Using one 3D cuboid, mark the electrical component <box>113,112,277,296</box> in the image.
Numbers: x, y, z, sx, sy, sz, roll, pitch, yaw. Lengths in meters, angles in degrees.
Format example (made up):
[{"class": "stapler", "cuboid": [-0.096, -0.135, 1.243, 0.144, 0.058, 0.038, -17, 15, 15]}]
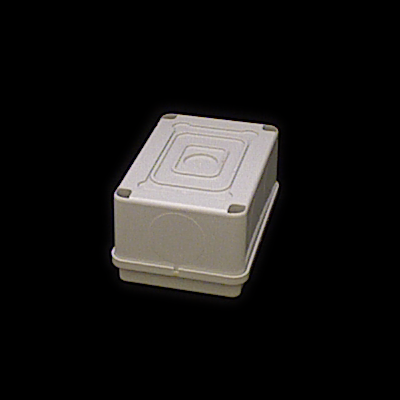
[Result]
[{"class": "electrical component", "cuboid": [0.000, 0.000, 0.635, 0.078, 0.058, 0.112, 8, 32, 11]}]
